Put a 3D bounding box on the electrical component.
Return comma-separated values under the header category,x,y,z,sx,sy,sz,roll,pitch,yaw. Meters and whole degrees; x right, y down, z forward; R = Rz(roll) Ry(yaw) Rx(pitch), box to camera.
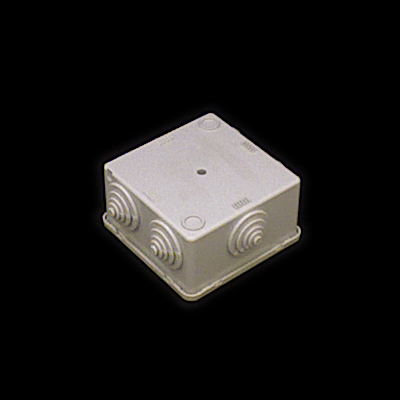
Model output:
category,x,y,z,sx,sy,sz,roll,pitch,yaw
electrical component,0.000,0.000,0.635,0.100,0.049,0.099,-28,50,-28
